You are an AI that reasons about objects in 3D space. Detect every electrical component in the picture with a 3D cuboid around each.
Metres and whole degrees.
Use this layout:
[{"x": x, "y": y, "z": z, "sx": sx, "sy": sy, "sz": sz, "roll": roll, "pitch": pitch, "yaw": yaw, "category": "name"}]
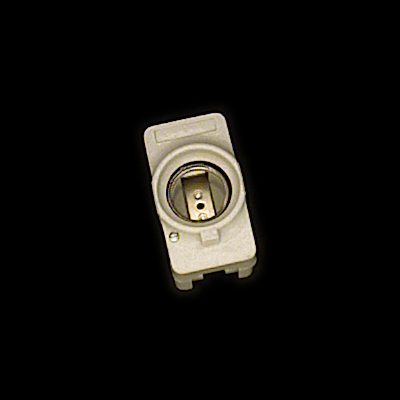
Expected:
[{"x": 0.000, "y": 0.000, "z": 0.636, "sx": 0.050, "sy": 0.090, "sz": 0.055, "roll": -12, "pitch": -16, "yaw": -3, "category": "electrical component"}]
